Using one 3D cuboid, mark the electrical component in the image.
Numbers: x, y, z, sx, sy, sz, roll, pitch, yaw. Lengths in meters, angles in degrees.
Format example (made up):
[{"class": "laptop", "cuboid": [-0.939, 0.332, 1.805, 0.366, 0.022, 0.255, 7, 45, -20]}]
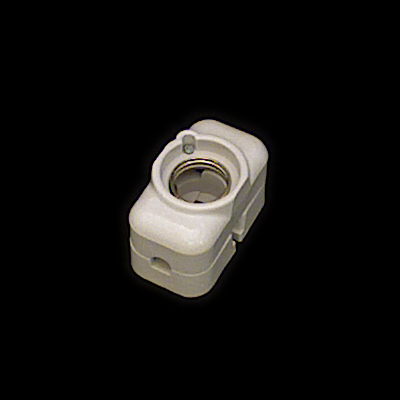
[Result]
[{"class": "electrical component", "cuboid": [0.000, 0.000, 0.636, 0.053, 0.095, 0.059, 23, -34, 16]}]
